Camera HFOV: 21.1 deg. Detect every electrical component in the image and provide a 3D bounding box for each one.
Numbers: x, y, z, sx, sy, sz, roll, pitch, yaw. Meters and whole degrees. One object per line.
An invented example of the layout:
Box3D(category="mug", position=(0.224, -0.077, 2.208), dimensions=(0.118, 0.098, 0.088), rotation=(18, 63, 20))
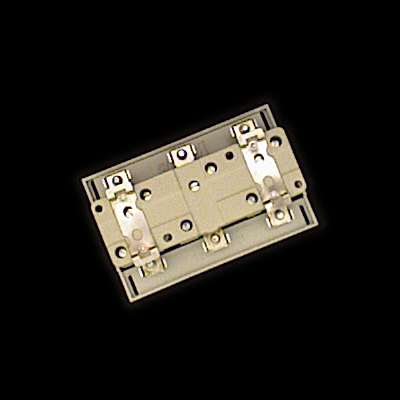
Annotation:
Box3D(category="electrical component", position=(0.000, 0.000, 0.634), dimensions=(0.121, 0.079, 0.063), rotation=(-22, -5, -2))
